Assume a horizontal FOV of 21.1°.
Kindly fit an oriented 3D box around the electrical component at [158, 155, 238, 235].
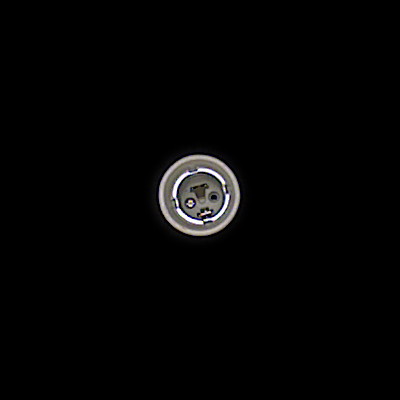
[{"bbox_3d":[0.000,0.000,0.624,0.044,0.044,0.065,0,-5,2],"label":"electrical component"}]
